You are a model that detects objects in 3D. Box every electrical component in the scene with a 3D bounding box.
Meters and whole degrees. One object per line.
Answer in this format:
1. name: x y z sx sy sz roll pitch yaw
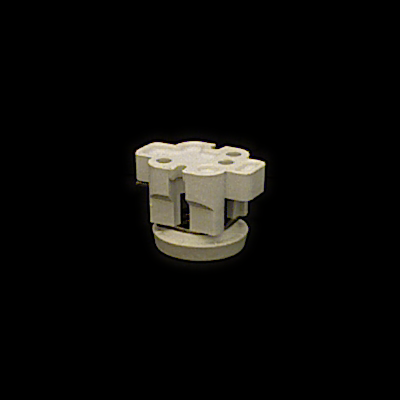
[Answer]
1. electrical component: 0.000 0.000 0.646 0.077 0.057 0.058 10 24 26
